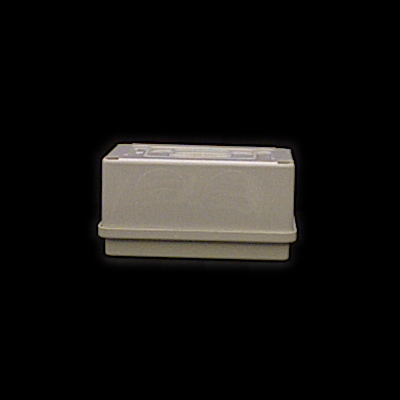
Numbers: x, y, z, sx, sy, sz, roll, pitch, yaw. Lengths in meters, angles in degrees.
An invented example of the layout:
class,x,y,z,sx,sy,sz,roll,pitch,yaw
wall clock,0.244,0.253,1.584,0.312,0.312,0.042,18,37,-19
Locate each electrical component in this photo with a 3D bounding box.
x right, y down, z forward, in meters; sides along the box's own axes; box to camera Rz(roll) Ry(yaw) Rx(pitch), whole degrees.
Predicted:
class,x,y,z,sx,sy,sz,roll,pitch,yaw
electrical component,0.000,0.000,0.644,0.113,0.057,0.077,1,11,3
